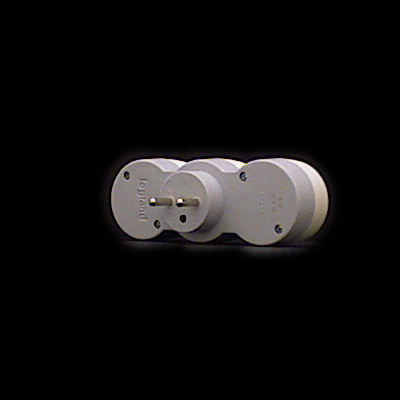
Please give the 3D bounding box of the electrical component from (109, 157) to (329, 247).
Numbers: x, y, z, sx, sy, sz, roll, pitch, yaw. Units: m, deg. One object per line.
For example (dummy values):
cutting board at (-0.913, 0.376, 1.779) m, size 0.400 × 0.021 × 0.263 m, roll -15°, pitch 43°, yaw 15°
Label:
electrical component at (0.000, 0.000, 0.649) m, size 0.138 × 0.052 × 0.073 m, roll 2°, pitch 3°, yaw 34°
